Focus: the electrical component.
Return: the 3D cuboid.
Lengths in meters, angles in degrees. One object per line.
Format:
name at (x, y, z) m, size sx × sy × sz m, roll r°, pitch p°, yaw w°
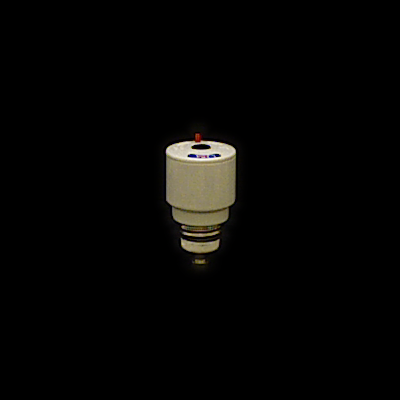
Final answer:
electrical component at (0.000, 0.000, 0.638) m, size 0.040 × 0.079 × 0.039 m, roll 1°, pitch 21°, yaw 0°
